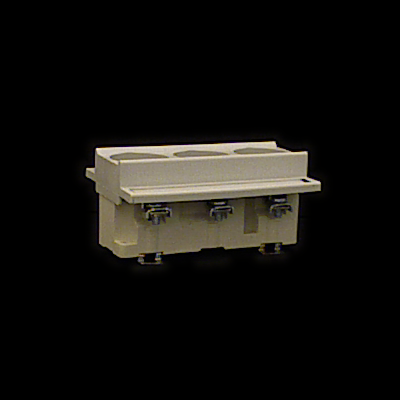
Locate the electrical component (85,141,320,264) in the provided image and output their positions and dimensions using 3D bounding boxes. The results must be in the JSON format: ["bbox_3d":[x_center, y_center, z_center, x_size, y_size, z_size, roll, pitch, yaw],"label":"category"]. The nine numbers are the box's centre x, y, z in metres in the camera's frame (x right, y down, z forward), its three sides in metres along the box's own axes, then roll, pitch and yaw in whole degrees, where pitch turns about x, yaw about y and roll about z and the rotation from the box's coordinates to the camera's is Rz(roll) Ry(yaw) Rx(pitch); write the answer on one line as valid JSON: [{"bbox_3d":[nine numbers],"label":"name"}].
[{"bbox_3d":[0.000,0.000,0.656,0.121,0.063,0.078,-4,14,-24],"label":"electrical component"}]
